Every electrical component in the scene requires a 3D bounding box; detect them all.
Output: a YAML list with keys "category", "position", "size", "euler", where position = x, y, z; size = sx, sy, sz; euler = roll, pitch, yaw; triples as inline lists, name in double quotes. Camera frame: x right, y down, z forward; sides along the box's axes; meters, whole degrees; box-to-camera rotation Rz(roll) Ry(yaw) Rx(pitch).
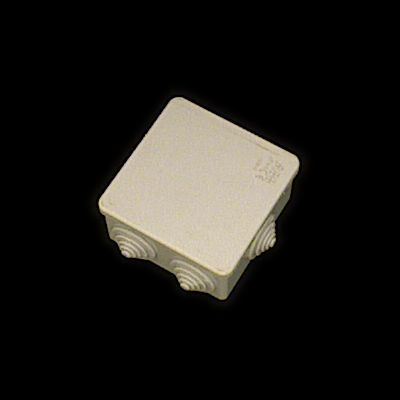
- category: "electrical component"
  position: [0.000, 0.000, 0.640]
  size: [0.099, 0.100, 0.048]
  euler: [28, -23, 13]
